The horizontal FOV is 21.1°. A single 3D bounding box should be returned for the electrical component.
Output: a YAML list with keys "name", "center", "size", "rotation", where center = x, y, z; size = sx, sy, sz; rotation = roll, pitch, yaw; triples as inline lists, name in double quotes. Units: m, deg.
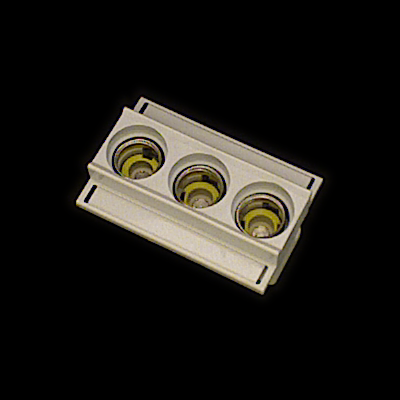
- name: "electrical component"
  center: [0.000, 0.000, 0.637]
  size: [0.121, 0.079, 0.063]
  rotation: [25, -22, 12]
